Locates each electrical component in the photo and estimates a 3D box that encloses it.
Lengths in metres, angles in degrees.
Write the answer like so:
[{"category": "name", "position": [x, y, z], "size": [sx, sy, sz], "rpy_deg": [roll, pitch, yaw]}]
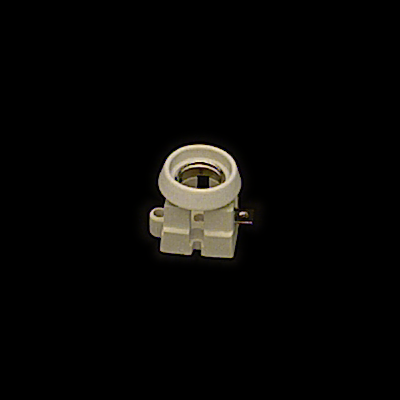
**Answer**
[{"category": "electrical component", "position": [0.000, 0.000, 0.641], "size": [0.066, 0.056, 0.048], "rpy_deg": [4, 45, 4]}]
